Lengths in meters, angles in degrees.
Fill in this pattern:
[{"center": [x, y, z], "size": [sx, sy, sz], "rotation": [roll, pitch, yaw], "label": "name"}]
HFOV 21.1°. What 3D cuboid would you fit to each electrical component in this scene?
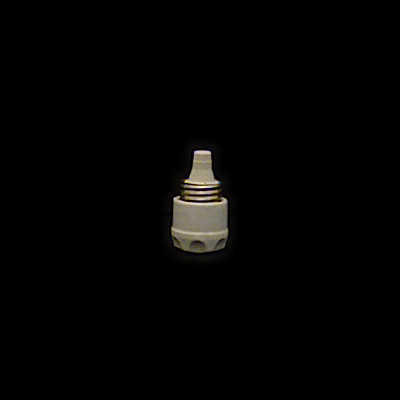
[{"center": [0.000, 0.000, 0.659], "size": [0.035, 0.062, 0.035], "rotation": [2, 13, 0], "label": "electrical component"}]
